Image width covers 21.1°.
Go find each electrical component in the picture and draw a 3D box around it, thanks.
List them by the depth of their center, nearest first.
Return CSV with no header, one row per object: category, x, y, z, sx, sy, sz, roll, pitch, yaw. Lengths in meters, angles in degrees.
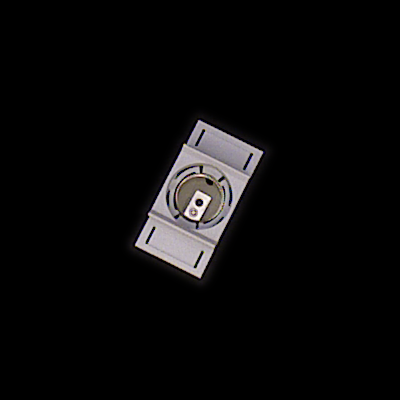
electrical component,0.000,0.000,0.624,0.042,0.081,0.063,27,-6,2
